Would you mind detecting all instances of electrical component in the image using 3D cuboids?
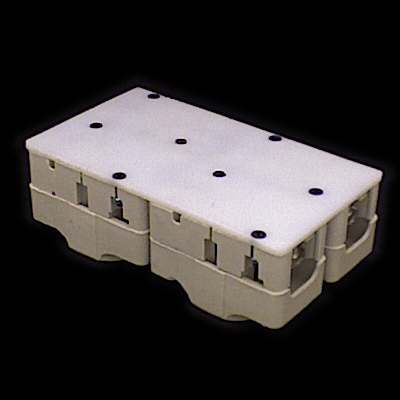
[{"bbox_3d":[0.000,0.000,0.634,0.185,0.061,0.105,22,37,31],"label":"electrical component"}]
